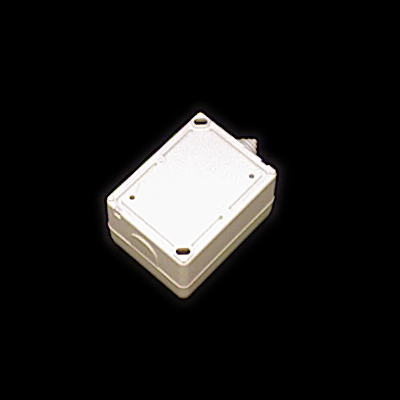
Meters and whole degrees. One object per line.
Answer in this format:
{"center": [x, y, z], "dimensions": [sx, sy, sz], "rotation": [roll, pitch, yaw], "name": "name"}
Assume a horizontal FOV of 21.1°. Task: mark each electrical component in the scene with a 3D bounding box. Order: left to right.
{"center": [0.000, 0.000, 0.627], "dimensions": [0.062, 0.096, 0.061], "rotation": [39, -22, 18], "name": "electrical component"}
